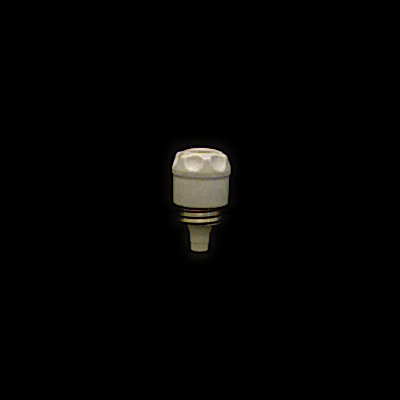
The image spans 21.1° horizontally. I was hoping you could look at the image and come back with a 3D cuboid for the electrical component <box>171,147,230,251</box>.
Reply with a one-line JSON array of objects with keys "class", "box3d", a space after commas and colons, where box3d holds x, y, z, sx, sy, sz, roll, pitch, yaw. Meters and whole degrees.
[{"class": "electrical component", "box3d": [0.000, 0.000, 0.649, 0.035, 0.062, 0.035, 1, 12, 0]}]
